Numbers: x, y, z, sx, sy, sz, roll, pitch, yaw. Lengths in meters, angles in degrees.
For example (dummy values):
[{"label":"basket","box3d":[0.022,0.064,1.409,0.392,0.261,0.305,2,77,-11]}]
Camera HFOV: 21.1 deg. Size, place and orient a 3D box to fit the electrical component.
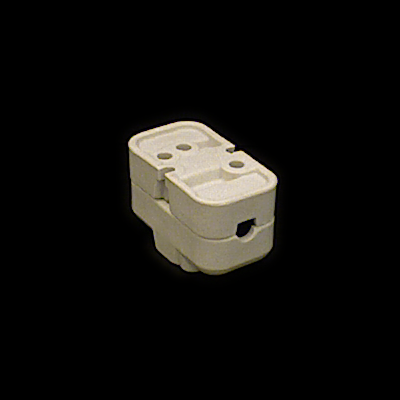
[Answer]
[{"label":"electrical component","box3d":[0.000,0.000,0.639,0.054,0.060,0.093,-20,38,-29]}]
